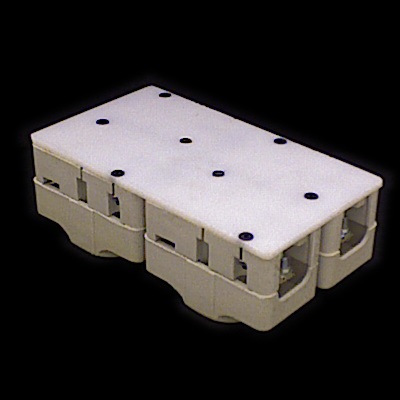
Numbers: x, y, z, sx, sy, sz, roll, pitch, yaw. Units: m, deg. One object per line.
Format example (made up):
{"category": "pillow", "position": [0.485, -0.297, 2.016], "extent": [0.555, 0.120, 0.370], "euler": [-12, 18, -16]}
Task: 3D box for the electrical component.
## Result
{"category": "electrical component", "position": [0.000, 0.000, 0.633], "extent": [0.184, 0.061, 0.105], "euler": [26, 39, 35]}
